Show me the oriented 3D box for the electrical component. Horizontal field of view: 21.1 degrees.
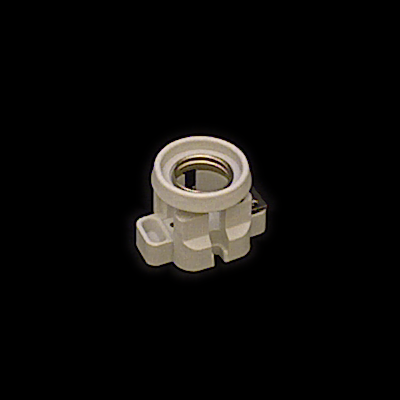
[{"bbox_3d":[0.000,0.000,0.633,0.078,0.057,0.057,-16,45,-18],"label":"electrical component"}]
